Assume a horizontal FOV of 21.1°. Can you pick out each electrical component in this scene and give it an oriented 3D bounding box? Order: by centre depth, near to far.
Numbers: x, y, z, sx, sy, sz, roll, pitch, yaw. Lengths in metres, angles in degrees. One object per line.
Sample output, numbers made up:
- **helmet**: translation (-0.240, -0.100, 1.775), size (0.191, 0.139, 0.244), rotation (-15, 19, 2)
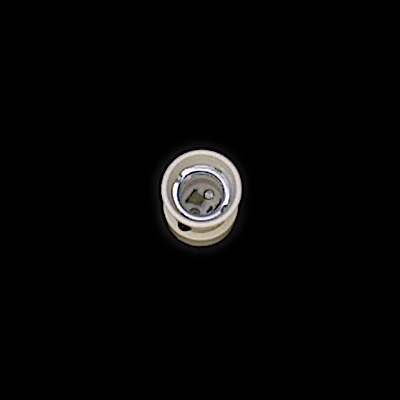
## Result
- **electrical component**: translation (0.000, 0.000, 0.628), size (0.045, 0.045, 0.055), rotation (0, -16, 0)
